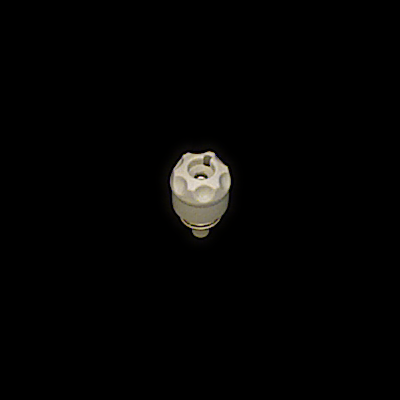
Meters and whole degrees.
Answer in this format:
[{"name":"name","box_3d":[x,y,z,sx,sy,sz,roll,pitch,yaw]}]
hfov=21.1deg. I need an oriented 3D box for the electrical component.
[{"name":"electrical component","box_3d":[0.000,0.000,0.636,0.035,0.035,0.062,0,-37,0]}]
